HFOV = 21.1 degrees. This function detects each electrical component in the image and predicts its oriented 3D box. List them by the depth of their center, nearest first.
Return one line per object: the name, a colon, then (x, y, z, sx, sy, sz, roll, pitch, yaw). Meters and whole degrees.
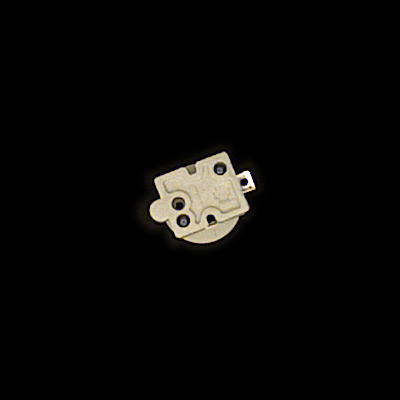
electrical component: (0.000, 0.000, 0.639, 0.066, 0.048, 0.055, -21, -7, -2)
